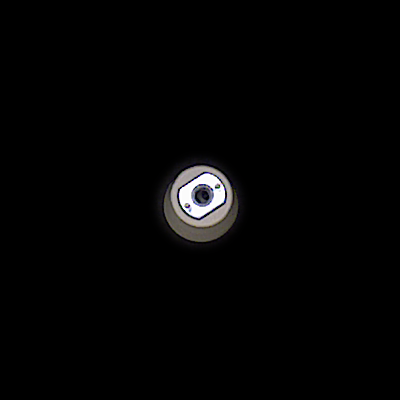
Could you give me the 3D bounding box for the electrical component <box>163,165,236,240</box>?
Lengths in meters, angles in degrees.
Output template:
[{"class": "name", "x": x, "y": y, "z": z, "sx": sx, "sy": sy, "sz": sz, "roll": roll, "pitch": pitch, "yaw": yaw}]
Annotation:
[{"class": "electrical component", "x": 0.000, "y": 0.000, "z": 0.625, "sx": 0.044, "sy": 0.044, "sz": 0.065, "roll": 0, "pitch": -5, "yaw": 0}]
